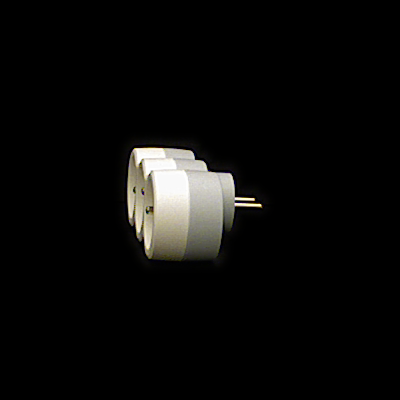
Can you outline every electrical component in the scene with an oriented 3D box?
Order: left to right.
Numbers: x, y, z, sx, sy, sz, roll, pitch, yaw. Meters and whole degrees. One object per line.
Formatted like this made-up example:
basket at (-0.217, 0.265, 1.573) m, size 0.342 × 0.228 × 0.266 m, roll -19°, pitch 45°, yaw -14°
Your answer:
electrical component at (0.000, 0.000, 0.651) m, size 0.074 × 0.052 × 0.136 m, roll 1°, pitch 11°, yaw -10°
